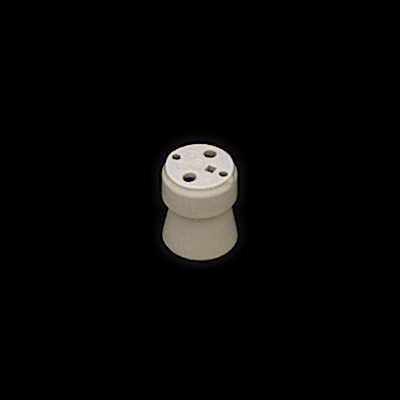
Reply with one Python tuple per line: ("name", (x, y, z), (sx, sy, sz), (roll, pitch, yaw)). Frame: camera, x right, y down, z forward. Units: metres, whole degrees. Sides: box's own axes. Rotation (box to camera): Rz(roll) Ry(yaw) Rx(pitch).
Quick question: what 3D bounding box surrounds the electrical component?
("electrical component", (0.000, 0.000, 0.631), (0.045, 0.055, 0.044), (0, 42, 0))
